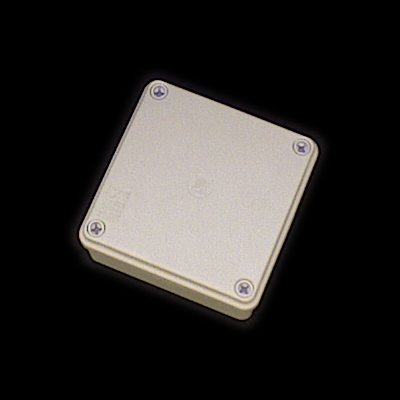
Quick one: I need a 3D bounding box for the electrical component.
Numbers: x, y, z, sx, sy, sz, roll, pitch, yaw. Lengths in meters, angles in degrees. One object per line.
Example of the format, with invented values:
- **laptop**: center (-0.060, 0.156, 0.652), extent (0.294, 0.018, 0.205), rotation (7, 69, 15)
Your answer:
- **electrical component**: center (0.000, 0.000, 0.630), extent (0.109, 0.109, 0.056), rotation (22, -16, 6)
